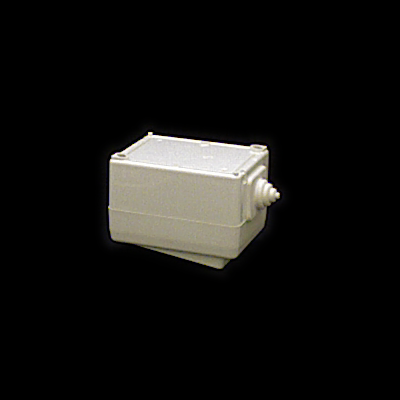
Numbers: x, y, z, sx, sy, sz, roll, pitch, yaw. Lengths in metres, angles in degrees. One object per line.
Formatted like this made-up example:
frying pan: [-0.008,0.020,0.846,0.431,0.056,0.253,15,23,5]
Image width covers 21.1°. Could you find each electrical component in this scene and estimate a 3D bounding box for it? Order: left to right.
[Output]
electrical component: [0.000,0.000,0.638,0.096,0.061,0.061,8,21,18]
